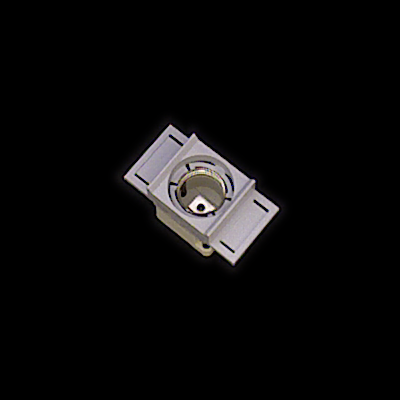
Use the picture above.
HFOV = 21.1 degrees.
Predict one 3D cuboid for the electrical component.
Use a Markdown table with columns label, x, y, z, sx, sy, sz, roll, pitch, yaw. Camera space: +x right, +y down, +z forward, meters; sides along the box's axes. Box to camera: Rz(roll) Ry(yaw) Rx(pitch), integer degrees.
| label | x | y | z | sx | sy | sz | roll | pitch | yaw |
| --- | --- | --- | --- | --- | --- | --- | --- | --- | --- |
| electrical component | 0.000 | 0.000 | 0.623 | 0.081 | 0.042 | 0.063 | 39 | -14 | 11 |
